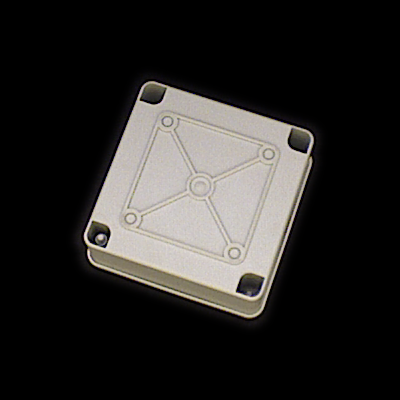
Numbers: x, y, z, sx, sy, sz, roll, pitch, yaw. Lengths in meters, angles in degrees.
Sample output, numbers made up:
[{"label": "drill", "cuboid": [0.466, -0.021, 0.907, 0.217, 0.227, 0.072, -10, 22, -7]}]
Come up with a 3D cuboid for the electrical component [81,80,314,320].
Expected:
[{"label": "electrical component", "cuboid": [0.000, 0.000, 0.627, 0.108, 0.109, 0.056, 18, -16, 6]}]
